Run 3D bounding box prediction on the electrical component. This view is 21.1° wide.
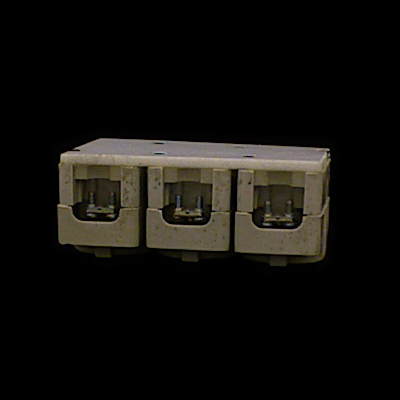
[{"bbox_3d":[0.000,0.000,0.649,0.150,0.062,0.088,3,10,10],"label":"electrical component"}]
